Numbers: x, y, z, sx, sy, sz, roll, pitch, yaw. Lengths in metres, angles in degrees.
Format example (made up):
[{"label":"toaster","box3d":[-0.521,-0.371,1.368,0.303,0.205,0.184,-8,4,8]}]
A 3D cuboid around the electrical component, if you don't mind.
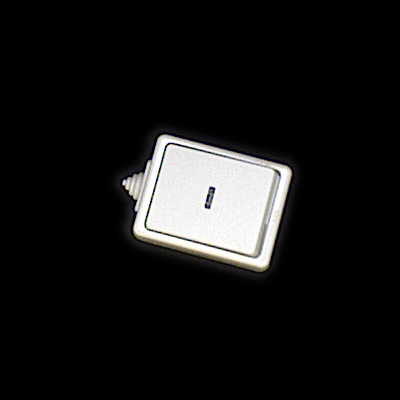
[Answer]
[{"label":"electrical component","box3d":[0.000,0.000,0.627,0.096,0.062,0.061,15,-6,2]}]
